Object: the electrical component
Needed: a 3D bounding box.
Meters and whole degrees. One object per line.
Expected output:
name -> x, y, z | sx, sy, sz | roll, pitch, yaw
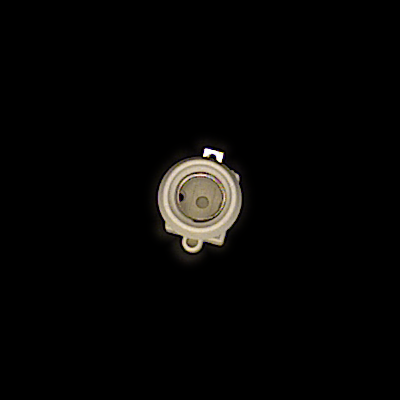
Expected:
electrical component -> 0.000, 0.000, 0.639 | 0.048, 0.066, 0.055 | 13, -6, 0
